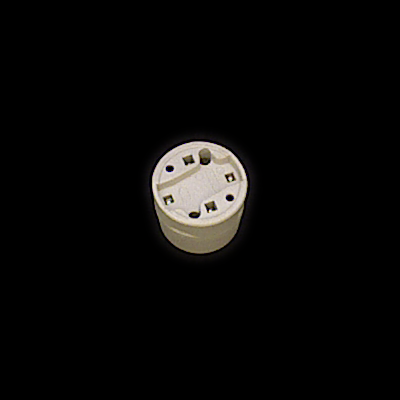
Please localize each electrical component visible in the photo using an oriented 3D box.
[{"bbox_3d":[0.000,0.000,0.634,0.055,0.056,0.047,0,-27,0],"label":"electrical component"}]
